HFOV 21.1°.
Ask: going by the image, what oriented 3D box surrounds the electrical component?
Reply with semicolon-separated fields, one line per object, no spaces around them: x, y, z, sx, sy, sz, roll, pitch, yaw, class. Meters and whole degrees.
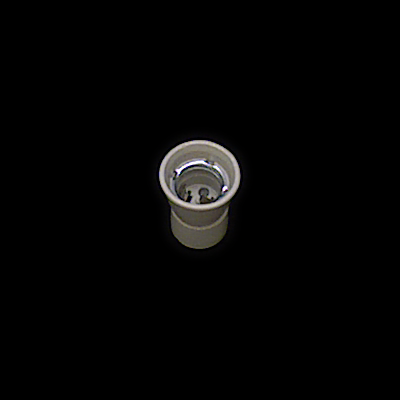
0.000;0.000;0.626;0.044;0.044;0.065;0;-28;0;electrical component
